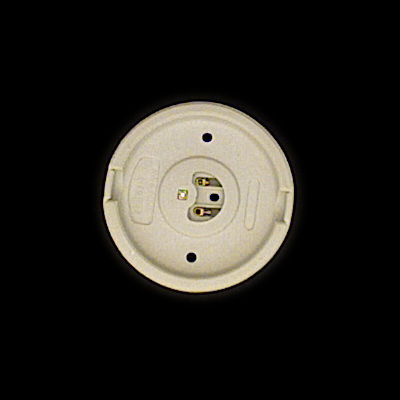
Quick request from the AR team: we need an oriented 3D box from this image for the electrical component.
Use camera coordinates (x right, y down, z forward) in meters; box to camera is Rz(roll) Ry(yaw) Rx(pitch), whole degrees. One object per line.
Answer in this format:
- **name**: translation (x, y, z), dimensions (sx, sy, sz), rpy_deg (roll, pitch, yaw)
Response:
- **electrical component**: translation (0.000, 0.000, 0.634), dimensions (0.108, 0.108, 0.060), rpy_deg (0, -6, 0)
